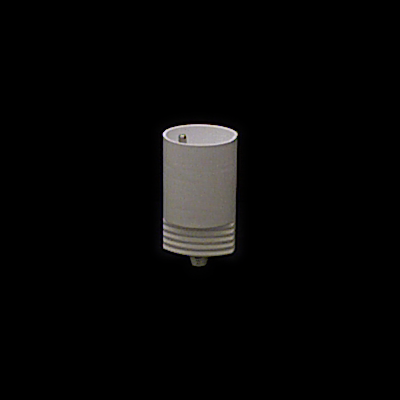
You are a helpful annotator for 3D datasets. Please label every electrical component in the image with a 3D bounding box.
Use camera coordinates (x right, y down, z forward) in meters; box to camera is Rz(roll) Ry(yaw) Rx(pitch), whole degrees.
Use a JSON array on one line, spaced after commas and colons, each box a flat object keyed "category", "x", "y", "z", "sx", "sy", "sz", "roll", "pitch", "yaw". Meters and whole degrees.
[{"category": "electrical component", "x": 0.000, "y": 0.000, "z": 0.632, "sx": 0.043, "sy": 0.082, "sz": 0.042, "roll": 0, "pitch": 20, "yaw": 0}]
